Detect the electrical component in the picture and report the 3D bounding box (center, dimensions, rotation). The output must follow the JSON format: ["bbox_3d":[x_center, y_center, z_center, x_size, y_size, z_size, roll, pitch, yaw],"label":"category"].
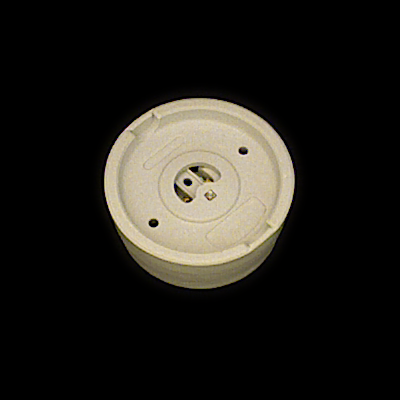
[{"bbox_3d":[0.000,0.000,0.633,0.108,0.108,0.060,0,-27,0],"label":"electrical component"}]
